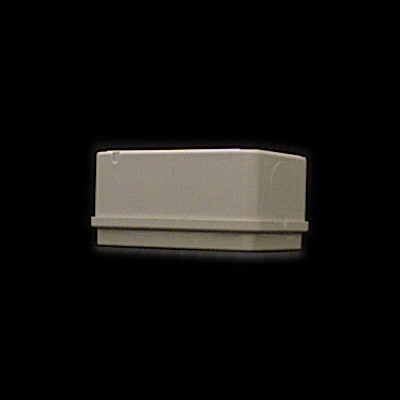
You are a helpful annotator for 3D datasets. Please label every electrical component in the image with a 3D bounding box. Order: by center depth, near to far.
[{"bbox_3d":[0.000,0.000,0.650,0.113,0.057,0.078,2,0,30],"label":"electrical component"}]
